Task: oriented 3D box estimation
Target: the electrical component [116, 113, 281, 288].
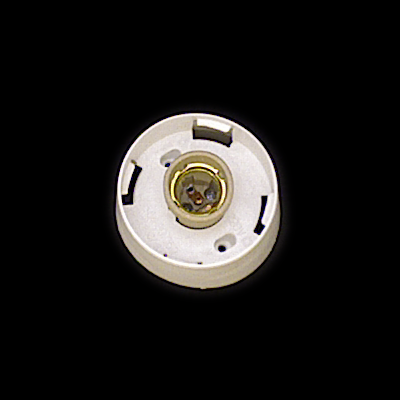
[{"bbox_3d":[0.000,0.000,0.624,0.099,0.099,0.063,0,-17,-1],"label":"electrical component"}]
